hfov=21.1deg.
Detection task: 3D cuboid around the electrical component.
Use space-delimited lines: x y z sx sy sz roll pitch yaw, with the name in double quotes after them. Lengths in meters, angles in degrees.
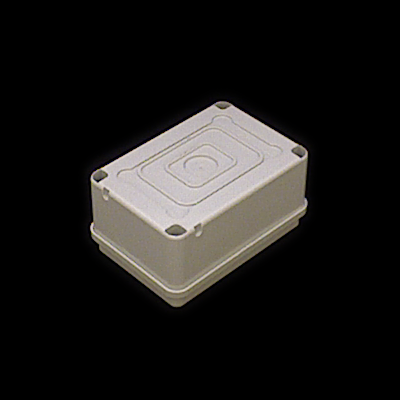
0.000 0.000 0.632 0.113 0.057 0.077 -32 51 -32 "electrical component"
